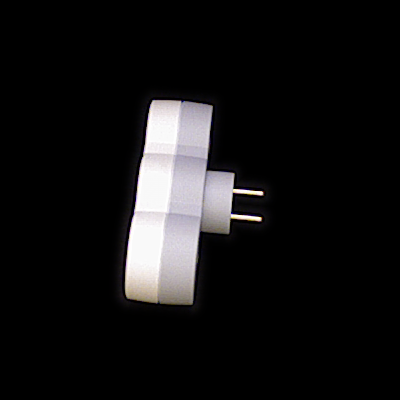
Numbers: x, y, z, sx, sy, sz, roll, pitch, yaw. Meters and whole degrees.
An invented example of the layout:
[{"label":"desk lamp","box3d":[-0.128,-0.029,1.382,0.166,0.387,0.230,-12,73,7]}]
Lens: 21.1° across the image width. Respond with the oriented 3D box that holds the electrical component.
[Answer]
[{"label":"electrical component","box3d":[0.000,0.000,0.633,0.074,0.137,0.052,5,-38,1]}]
